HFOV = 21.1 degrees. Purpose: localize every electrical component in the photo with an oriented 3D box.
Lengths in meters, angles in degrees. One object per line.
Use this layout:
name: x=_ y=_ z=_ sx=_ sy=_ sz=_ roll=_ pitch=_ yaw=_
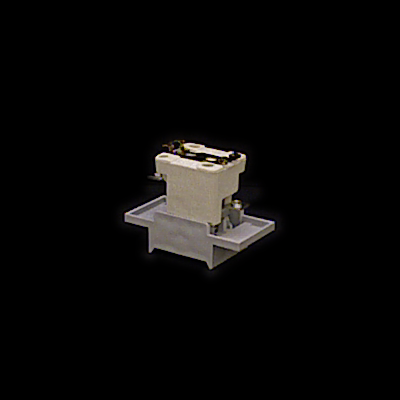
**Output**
electrical component: x=0.000 y=0.000 z=0.639 sx=0.080 sy=0.064 sz=0.042 roll=13 pitch=24 yaw=29
